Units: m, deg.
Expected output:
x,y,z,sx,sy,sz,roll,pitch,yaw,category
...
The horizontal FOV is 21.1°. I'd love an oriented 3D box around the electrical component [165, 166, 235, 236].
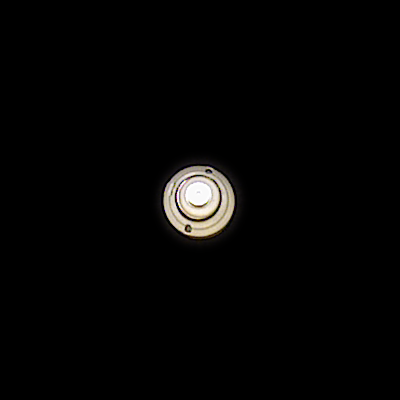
x,y,z,sx,sy,sz,roll,pitch,yaw,category
0.000,0.000,0.618,0.040,0.040,0.078,0,-5,0,electrical component
